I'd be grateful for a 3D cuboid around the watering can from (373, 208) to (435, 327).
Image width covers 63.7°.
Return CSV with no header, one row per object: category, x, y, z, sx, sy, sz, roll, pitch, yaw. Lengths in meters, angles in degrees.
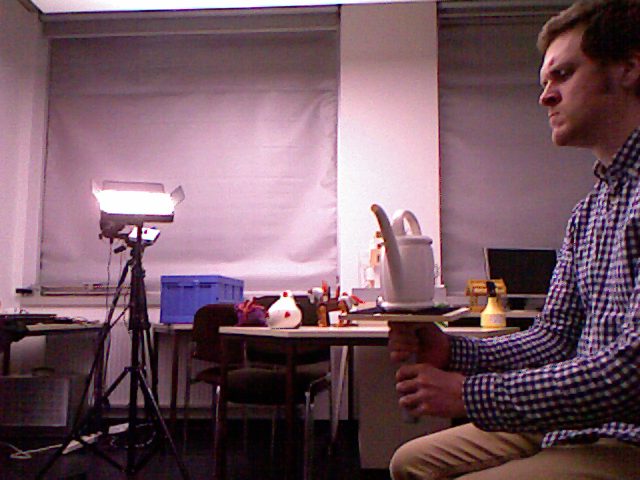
watering can,0.152,0.050,0.957,0.104,0.225,0.347,-1,-3,23
